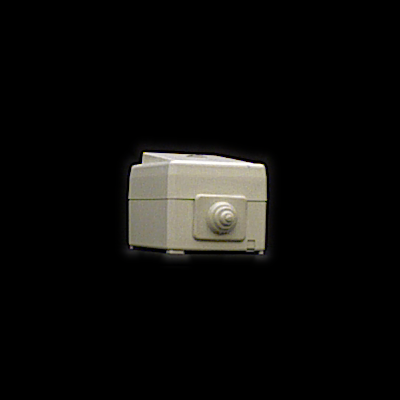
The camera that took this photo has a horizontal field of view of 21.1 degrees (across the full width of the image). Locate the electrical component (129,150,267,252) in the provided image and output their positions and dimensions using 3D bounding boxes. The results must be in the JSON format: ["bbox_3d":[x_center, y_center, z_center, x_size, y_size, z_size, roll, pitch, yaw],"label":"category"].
[{"bbox_3d":[0.000,0.000,0.647,0.062,0.061,0.096,1,0,-21],"label":"electrical component"}]
